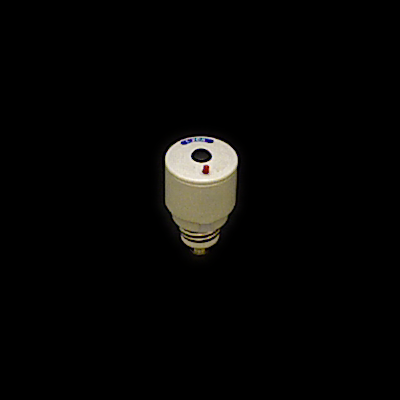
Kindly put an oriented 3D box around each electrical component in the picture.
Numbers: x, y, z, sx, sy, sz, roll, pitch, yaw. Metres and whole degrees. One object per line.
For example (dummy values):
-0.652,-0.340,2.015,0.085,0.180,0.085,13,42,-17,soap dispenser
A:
0.000,0.000,0.622,0.040,0.079,0.039,1,42,0,electrical component
